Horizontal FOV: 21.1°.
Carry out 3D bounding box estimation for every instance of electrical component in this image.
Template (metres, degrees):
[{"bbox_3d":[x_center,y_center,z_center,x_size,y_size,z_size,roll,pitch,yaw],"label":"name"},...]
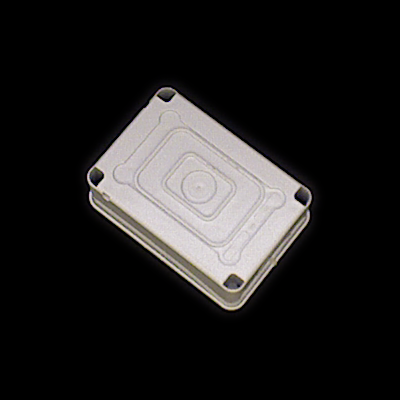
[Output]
[{"bbox_3d":[0.000,0.000,0.628,0.113,0.078,0.057,37,-14,10],"label":"electrical component"}]
